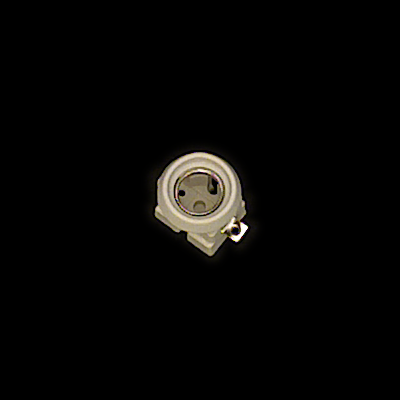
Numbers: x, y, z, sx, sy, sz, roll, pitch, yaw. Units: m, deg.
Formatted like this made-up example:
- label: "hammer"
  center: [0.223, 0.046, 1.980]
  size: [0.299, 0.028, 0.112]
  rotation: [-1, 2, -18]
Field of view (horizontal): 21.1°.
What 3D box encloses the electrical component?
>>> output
- label: "electrical component"
  center: [0.000, 0.000, 0.637]
  size: [0.066, 0.048, 0.055]
  rotation: [35, -11, 9]
